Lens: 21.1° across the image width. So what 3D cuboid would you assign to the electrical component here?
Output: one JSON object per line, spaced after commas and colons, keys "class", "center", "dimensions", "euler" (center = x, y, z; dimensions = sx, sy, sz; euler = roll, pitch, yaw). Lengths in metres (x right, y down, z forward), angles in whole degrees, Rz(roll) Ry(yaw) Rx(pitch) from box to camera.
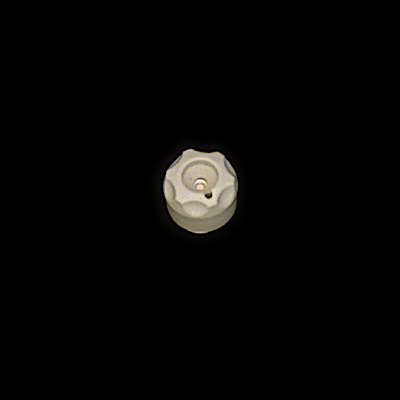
{"class": "electrical component", "center": [0.000, 0.000, 0.634], "dimensions": [0.043, 0.043, 0.062], "euler": [0, -27, 1]}
